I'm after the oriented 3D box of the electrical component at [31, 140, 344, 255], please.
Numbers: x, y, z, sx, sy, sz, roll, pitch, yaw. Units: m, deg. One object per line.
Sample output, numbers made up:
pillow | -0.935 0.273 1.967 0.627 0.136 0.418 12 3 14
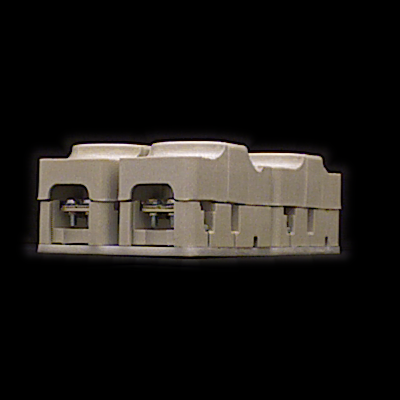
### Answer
electrical component | 0.000 0.000 0.651 0.105 0.060 0.187 1 -1 32
